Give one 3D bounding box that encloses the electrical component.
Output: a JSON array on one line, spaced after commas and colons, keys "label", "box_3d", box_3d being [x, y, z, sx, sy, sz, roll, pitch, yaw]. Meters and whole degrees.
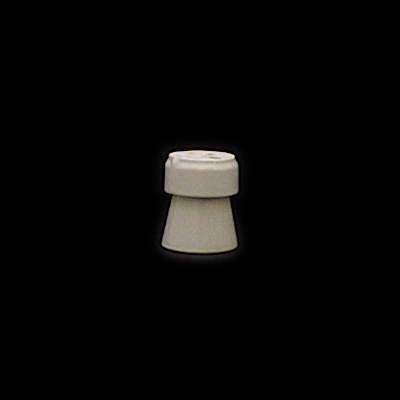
[{"label": "electrical component", "box_3d": [0.000, 0.000, 0.644, 0.045, 0.055, 0.044, 1, 12, 0]}]
